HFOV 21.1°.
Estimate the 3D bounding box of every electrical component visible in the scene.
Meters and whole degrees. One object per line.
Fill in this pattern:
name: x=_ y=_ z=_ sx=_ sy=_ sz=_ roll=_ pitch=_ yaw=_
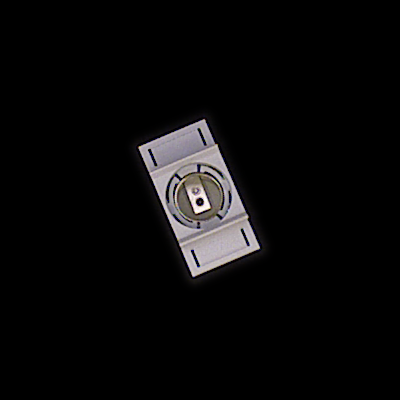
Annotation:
electrical component: x=0.000 y=0.000 z=0.625 sx=0.042 sy=0.081 sz=0.063 roll=-23 pitch=-5 yaw=-1
